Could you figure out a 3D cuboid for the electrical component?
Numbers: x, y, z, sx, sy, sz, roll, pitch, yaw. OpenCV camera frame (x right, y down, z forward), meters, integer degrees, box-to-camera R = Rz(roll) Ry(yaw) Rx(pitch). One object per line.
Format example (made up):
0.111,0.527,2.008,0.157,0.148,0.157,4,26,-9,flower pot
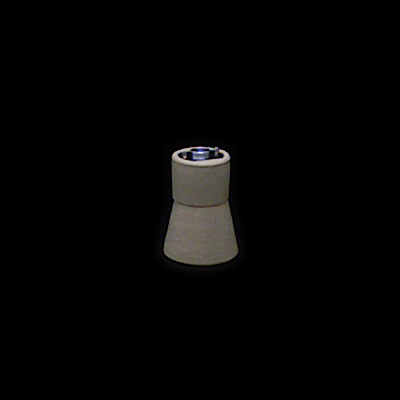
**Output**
0.000,0.000,0.640,0.044,0.066,0.044,0,20,0,electrical component
